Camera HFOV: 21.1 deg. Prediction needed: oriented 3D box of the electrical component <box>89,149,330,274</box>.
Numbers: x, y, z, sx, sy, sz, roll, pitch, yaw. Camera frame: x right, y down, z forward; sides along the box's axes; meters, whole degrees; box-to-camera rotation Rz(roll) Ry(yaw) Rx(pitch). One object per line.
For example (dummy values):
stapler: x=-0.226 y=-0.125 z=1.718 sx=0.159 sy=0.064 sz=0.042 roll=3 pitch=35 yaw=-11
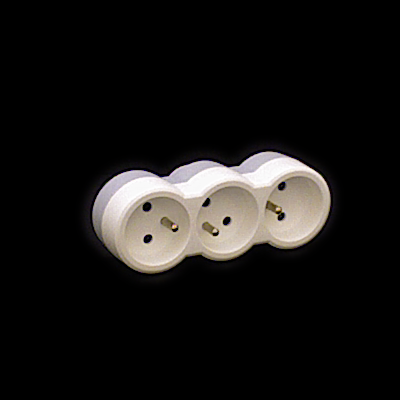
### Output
electrical component: x=0.000 y=0.000 z=0.639 sx=0.138 sy=0.053 sz=0.073 roll=-9 pitch=21 yaw=-24
